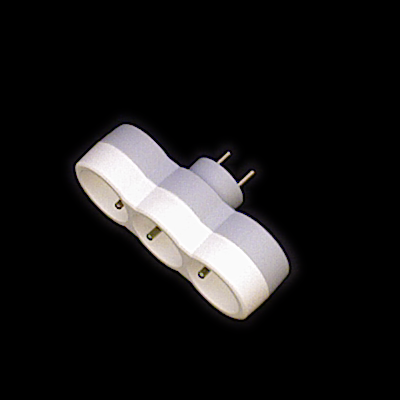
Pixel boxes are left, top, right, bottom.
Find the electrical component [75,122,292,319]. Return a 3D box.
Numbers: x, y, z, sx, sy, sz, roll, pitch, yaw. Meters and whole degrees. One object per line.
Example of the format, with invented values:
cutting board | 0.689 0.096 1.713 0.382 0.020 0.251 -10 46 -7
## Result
electrical component | 0.000 0.000 0.631 0.138 0.074 0.052 39 -23 18
